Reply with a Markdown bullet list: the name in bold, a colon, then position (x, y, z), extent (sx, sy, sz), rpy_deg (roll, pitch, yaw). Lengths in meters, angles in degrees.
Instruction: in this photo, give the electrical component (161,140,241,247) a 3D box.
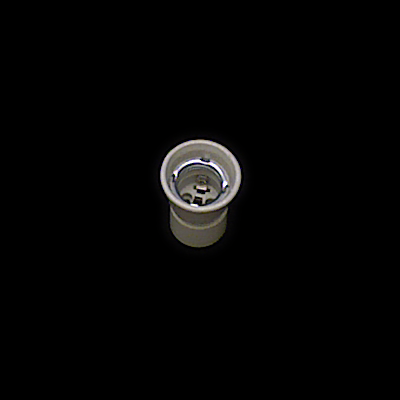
- **electrical component**: position (0.000, 0.000, 0.625), extent (0.044, 0.044, 0.065), rpy_deg (0, -27, -2)
